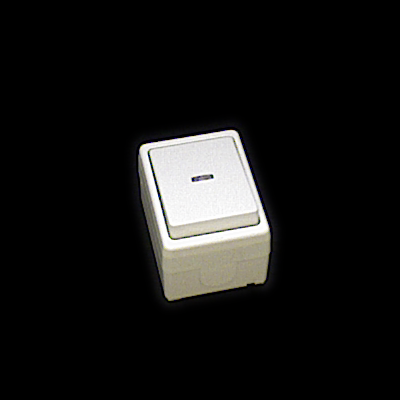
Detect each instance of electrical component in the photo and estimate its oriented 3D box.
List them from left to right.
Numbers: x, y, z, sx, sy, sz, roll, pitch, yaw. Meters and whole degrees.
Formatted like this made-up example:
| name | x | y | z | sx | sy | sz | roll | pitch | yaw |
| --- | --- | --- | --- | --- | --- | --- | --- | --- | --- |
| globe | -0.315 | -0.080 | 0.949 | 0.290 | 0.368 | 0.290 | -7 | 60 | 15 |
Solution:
| name | x | y | z | sx | sy | sz | roll | pitch | yaw |
| --- | --- | --- | --- | --- | --- | --- | --- | --- | --- |
| electrical component | 0.000 | 0.000 | 0.629 | 0.062 | 0.096 | 0.061 | -10 | -37 | -8 |
